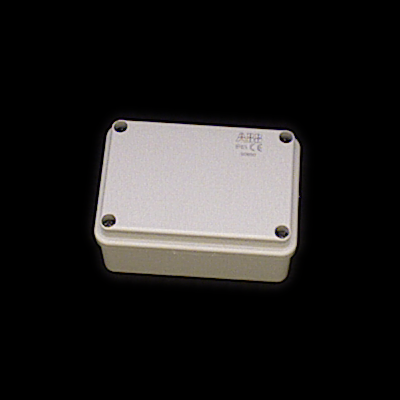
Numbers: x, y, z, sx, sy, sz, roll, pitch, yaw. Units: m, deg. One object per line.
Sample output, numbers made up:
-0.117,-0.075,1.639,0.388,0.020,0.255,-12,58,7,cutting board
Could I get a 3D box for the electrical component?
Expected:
0.000,0.000,0.628,0.113,0.078,0.057,4,-27,2,electrical component
